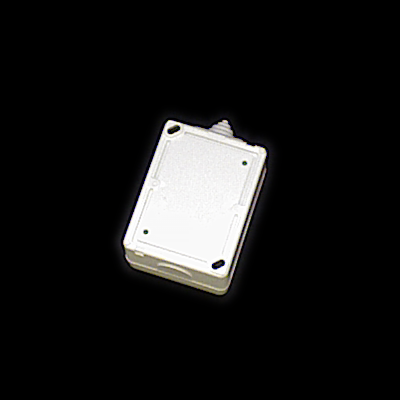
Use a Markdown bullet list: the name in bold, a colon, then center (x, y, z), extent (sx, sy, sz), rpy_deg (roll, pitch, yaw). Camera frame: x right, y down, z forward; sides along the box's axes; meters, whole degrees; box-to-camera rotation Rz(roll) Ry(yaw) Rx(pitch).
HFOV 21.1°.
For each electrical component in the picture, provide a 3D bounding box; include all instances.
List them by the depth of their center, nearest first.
- **electrical component**: center (0.000, 0.000, 0.628), extent (0.062, 0.096, 0.061), rpy_deg (17, -16, 6)
